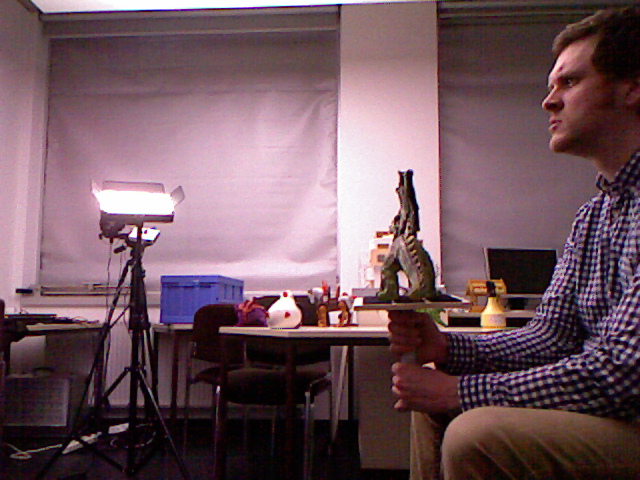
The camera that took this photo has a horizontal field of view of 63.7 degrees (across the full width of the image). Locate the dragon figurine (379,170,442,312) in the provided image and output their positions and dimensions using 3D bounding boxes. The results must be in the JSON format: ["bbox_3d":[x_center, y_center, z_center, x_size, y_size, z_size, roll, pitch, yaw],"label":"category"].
[{"bbox_3d":[0.163,-0.012,0.976,0.122,0.243,0.410,-7,1,0],"label":"dragon figurine"}]
